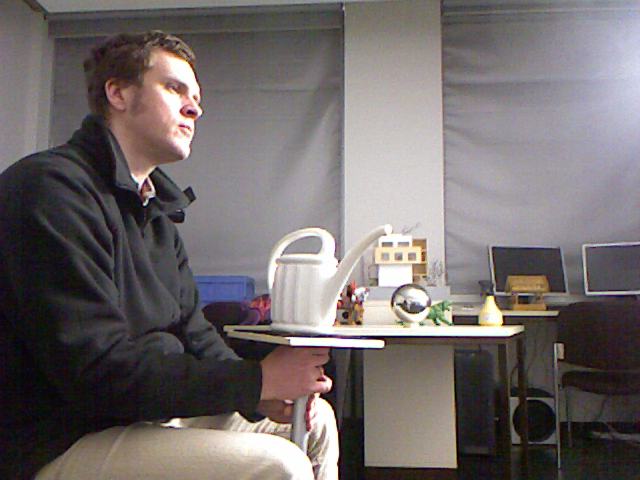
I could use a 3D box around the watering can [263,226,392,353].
[{"bbox_3d":[-0.004,0.084,0.899,0.104,0.226,0.346,4,-7,-37],"label":"watering can"}]
